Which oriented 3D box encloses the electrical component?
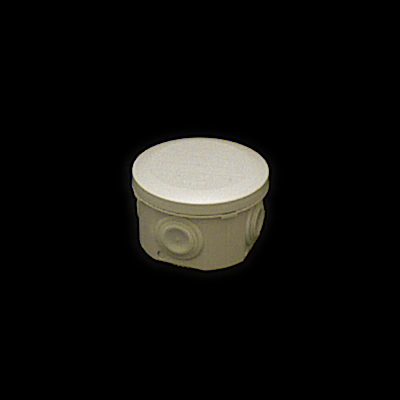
[{"bbox_3d":[0.000,0.000,0.636,0.080,0.051,0.079,1,31,0],"label":"electrical component"}]
